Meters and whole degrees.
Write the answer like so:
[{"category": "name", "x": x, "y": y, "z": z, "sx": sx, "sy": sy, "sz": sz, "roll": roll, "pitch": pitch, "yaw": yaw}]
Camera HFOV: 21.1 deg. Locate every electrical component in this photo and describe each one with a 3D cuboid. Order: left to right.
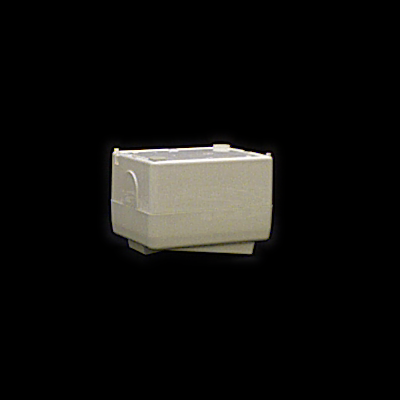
[{"category": "electrical component", "x": 0.000, "y": 0.000, "z": 0.650, "sx": 0.096, "sy": 0.061, "sz": 0.061, "roll": -4, "pitch": 11, "yaw": -27}]
